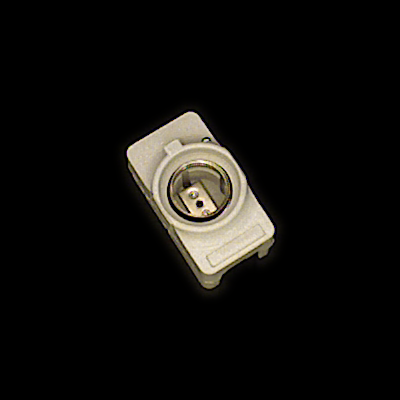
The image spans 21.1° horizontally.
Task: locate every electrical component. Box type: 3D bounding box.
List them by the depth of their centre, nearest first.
[{"bbox_3d":[0.000,0.000,0.636,0.050,0.089,0.055,-32,-13,-9],"label":"electrical component"}]
